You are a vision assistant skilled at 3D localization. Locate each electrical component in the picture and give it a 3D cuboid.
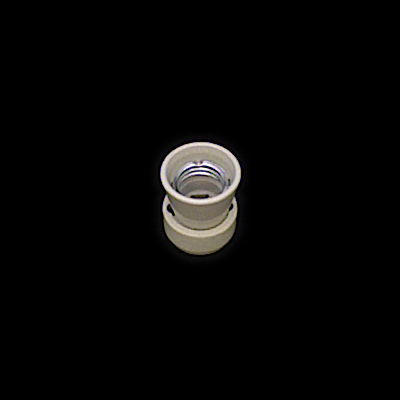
[{"bbox_3d":[0.000,0.000,0.629,0.045,0.044,0.055,0,-37,0],"label":"electrical component"}]
